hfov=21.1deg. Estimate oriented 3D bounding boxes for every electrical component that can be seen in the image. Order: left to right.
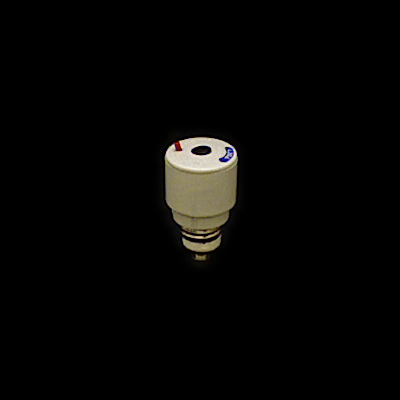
[{"bbox_3d":[0.000,0.000,0.630,0.040,0.079,0.039,0,31,0],"label":"electrical component"}]
